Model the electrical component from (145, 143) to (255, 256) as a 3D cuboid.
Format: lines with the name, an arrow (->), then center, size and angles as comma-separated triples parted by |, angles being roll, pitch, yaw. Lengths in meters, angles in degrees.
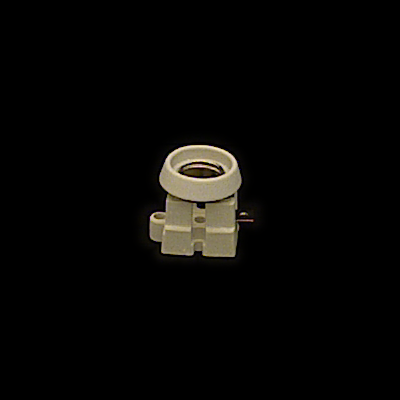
electrical component -> 0.000, 0.000, 0.644 | 0.066, 0.056, 0.048 | 2, 34, 2
